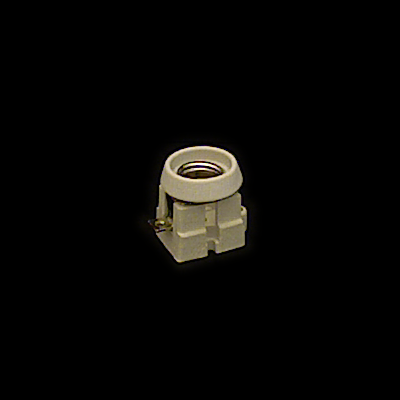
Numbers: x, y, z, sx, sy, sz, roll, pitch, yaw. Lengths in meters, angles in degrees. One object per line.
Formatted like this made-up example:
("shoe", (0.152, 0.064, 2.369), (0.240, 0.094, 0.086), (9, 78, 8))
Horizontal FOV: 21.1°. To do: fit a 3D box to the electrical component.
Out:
("electrical component", (0.000, 0.000, 0.642), (0.067, 0.056, 0.047), (-14, 33, -23))
